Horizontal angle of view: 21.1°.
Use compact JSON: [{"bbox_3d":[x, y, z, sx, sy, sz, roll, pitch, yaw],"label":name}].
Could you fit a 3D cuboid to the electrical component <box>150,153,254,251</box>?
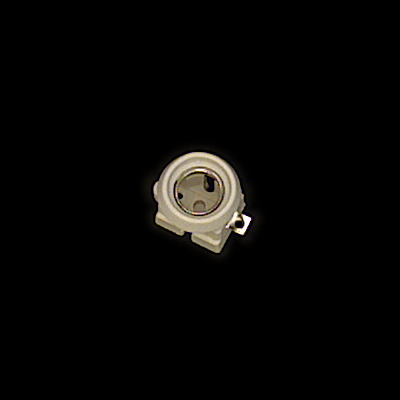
[{"bbox_3d":[0.000,0.000,0.638,0.066,0.048,0.055,25,-13,7],"label":"electrical component"}]
